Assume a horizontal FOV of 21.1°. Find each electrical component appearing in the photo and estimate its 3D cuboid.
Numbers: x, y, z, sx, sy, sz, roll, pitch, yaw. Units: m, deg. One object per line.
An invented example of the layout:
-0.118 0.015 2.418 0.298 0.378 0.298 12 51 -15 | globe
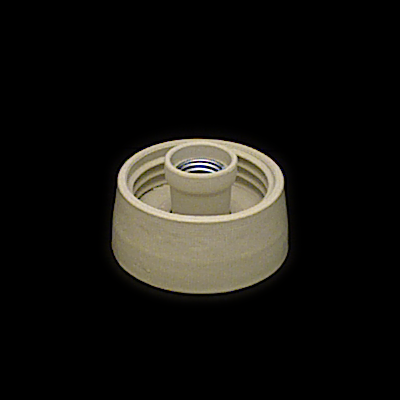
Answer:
0.000 0.000 0.642 0.108 0.061 0.106 1 32 0 | electrical component
